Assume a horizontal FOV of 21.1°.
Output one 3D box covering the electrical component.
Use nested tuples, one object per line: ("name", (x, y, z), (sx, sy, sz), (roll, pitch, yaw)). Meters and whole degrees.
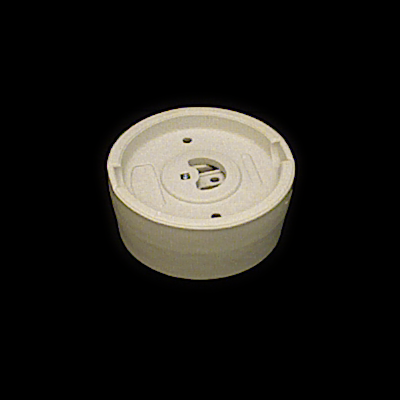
("electrical component", (0.000, 0.000, 0.635), (0.108, 0.061, 0.107), (1, 43, 0))
